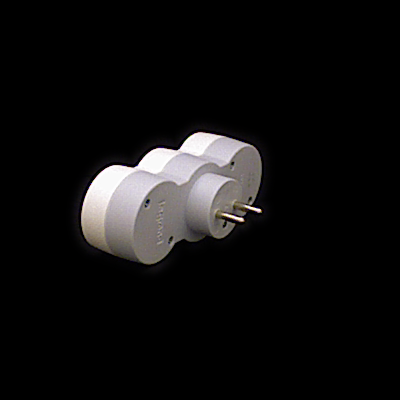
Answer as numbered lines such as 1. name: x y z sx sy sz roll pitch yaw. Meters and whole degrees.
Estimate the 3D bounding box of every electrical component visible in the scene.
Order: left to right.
1. electrical component: 0.000 0.000 0.643 0.073 0.053 0.137 17 25 31
